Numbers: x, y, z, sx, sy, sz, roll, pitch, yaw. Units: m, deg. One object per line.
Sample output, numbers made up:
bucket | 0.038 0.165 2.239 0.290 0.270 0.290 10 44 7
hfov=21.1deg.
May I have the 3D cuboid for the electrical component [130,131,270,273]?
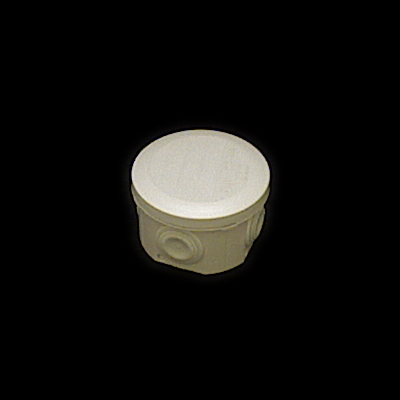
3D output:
electrical component | 0.000 0.000 0.631 0.080 0.051 0.080 0 42 0
